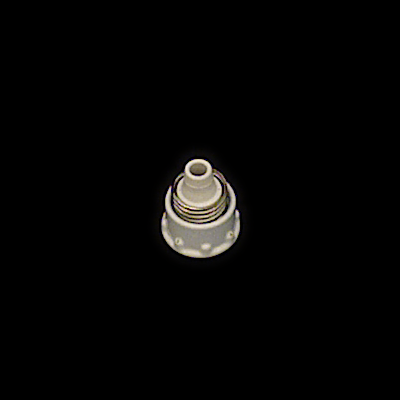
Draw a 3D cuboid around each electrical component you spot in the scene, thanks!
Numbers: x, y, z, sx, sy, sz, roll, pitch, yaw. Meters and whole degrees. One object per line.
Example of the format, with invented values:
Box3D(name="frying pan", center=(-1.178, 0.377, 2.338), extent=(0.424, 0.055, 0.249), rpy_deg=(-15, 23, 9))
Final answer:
Box3D(name="electrical component", center=(0.000, 0.000, 0.634), extent=(0.048, 0.048, 0.062), rpy_deg=(0, -37, 1))
